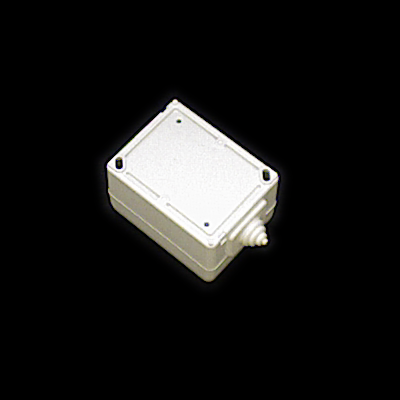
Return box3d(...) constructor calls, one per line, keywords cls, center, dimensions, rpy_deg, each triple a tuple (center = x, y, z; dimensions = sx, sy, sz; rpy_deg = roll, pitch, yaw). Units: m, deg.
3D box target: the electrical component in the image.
box3d(cls="electrical component", center=(0.000, 0.000, 0.625), dimensions=(0.096, 0.062, 0.060), rpy_deg=(37, -22, 18))
